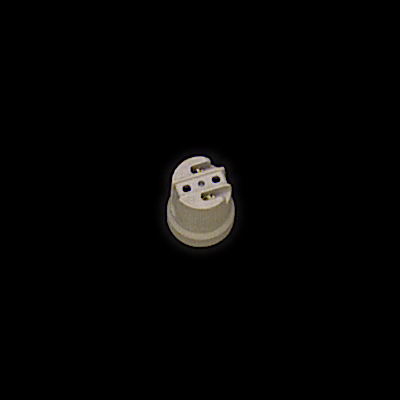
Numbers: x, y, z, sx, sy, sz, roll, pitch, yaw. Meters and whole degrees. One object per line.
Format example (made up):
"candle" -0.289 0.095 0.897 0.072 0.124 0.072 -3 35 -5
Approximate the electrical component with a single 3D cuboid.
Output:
"electrical component" 0.000 0.000 0.633 0.040 0.040 0.046 0 -26 0
